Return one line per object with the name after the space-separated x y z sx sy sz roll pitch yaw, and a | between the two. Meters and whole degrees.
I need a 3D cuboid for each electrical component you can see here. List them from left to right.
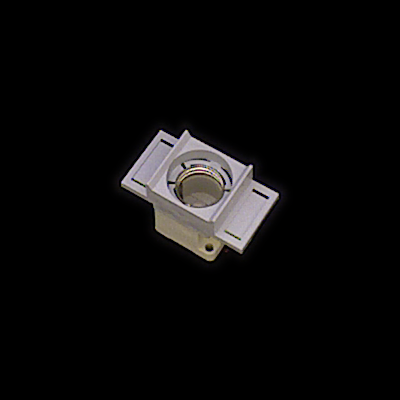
0.000 0.000 0.624 0.081 0.042 0.063 29 -25 14 | electrical component
